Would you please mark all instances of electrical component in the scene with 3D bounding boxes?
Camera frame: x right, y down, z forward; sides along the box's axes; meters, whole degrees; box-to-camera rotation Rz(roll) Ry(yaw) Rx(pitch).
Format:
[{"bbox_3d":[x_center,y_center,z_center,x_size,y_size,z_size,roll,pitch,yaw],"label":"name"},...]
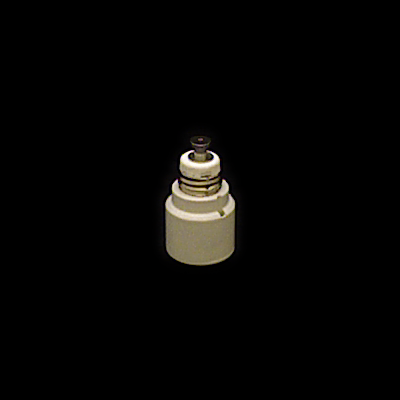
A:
[{"bbox_3d":[0.000,0.000,0.628,0.040,0.079,0.039,0,31,0],"label":"electrical component"}]
